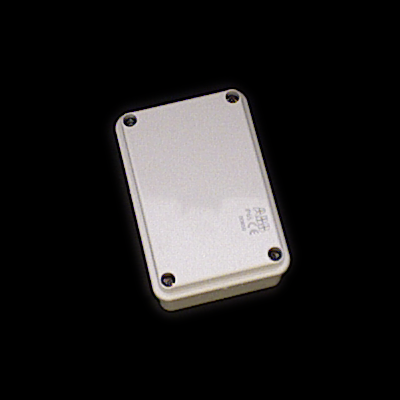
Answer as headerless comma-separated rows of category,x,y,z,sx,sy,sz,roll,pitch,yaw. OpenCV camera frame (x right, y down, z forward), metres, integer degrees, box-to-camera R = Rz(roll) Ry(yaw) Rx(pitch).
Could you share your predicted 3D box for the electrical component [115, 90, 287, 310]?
electrical component,0.000,0.000,0.627,0.078,0.113,0.057,-13,-17,-4
